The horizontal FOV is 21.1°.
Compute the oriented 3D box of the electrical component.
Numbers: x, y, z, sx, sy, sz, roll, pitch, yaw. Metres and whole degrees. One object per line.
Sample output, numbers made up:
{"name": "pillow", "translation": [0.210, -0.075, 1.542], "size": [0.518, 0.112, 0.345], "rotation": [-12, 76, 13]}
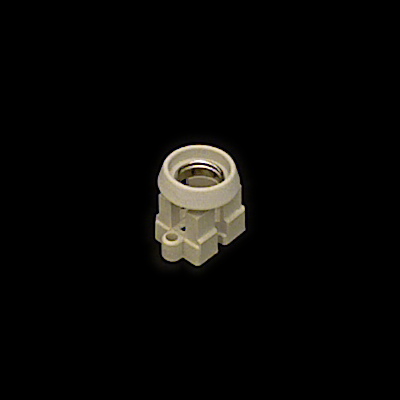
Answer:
{"name": "electrical component", "translation": [0.000, 0.000, 0.641], "size": [0.048, 0.056, 0.066], "rotation": [32, 51, 27]}
